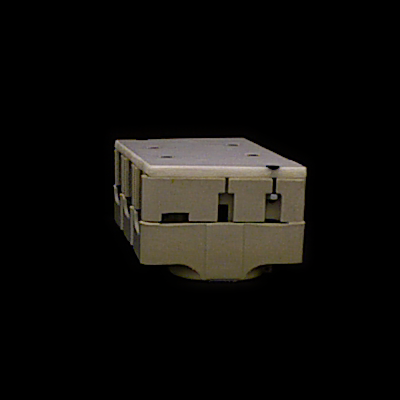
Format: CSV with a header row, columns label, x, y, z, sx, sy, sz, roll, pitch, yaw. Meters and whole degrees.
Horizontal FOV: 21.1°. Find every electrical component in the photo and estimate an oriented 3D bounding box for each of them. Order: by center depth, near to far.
label,x,y,z,sx,sy,sz,roll,pitch,yaw
electrical component,0.000,0.000,0.648,0.089,0.062,0.148,-1,10,-10
